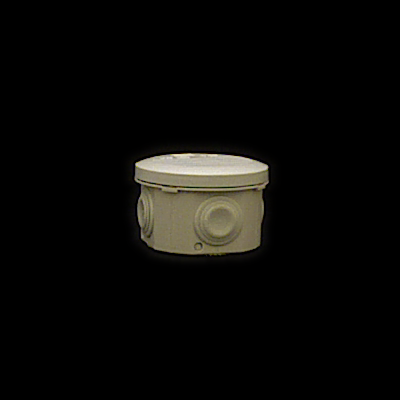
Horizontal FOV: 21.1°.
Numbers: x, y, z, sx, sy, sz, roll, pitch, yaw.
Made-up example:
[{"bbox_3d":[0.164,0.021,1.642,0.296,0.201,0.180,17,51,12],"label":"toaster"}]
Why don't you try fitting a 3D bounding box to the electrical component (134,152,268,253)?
[{"bbox_3d":[0.000,0.000,0.647,0.080,0.051,0.079,1,11,0],"label":"electrical component"}]
